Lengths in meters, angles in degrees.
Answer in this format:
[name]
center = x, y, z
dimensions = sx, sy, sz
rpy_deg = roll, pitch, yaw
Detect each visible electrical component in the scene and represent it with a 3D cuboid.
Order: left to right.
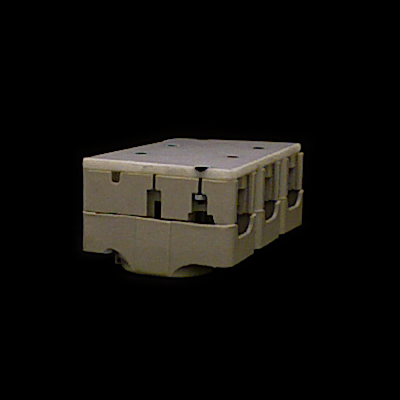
[electrical component]
center = 0.000, 0.000, 0.654
dimensions = 0.089, 0.062, 0.149
rpy_deg = 5, 10, 20
